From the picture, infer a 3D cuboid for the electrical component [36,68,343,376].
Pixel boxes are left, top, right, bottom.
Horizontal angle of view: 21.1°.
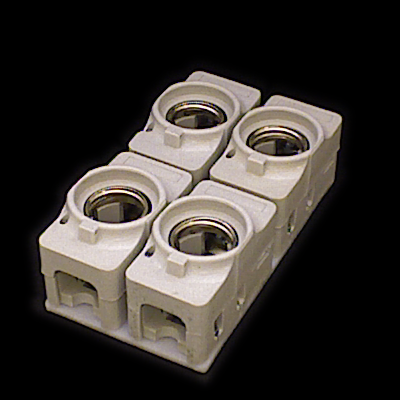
[{"bbox_3d":[0.000,0.000,0.629,0.105,0.061,0.185,20,46,20],"label":"electrical component"}]
